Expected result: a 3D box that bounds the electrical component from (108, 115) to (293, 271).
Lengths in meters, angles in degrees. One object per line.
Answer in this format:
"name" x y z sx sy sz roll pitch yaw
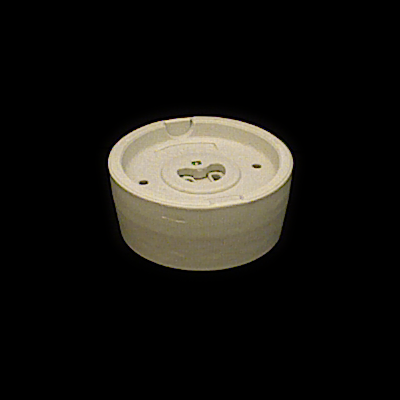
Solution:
"electrical component" 0.000 0.000 0.643 0.108 0.061 0.106 1 32 0
